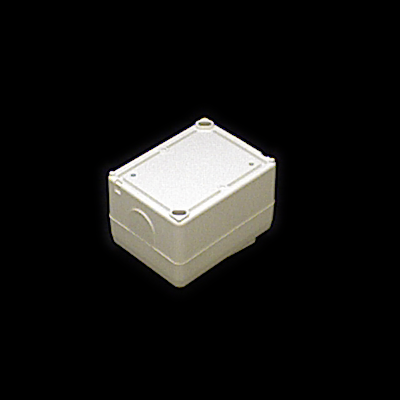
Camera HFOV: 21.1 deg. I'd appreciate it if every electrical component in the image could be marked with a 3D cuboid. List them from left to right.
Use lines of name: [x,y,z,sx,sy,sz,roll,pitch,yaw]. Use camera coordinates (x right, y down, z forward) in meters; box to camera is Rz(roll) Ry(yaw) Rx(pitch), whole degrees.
electrical component: [0.000,0.000,0.636,0.095,0.061,0.061,-33,51,-32]
